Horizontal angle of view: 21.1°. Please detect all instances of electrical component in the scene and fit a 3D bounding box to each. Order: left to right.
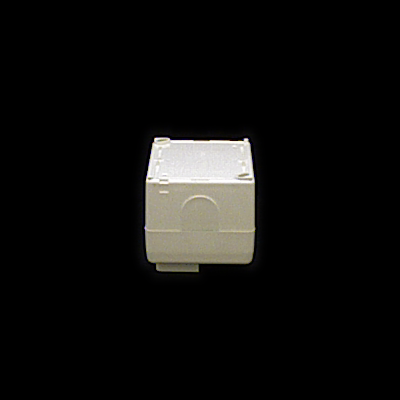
[{"bbox_3d":[0.000,0.000,0.646,0.062,0.062,0.095,1,21,0],"label":"electrical component"}]
